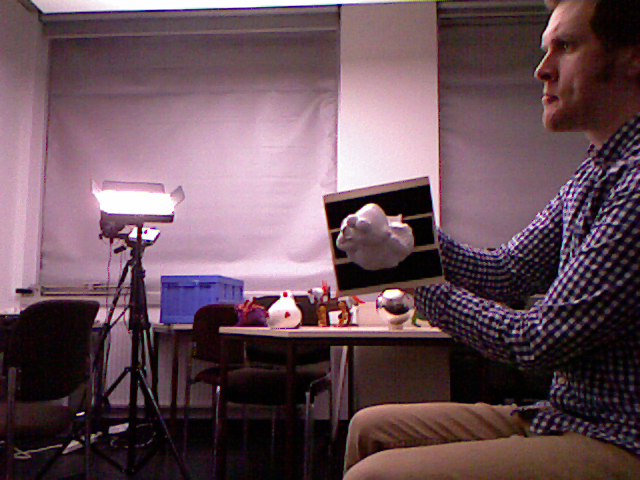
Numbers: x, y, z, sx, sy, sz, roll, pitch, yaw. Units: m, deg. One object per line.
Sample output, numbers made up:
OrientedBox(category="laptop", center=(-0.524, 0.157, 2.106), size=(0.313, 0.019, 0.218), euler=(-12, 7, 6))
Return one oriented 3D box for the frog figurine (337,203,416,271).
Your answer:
OrientedBox(category="frog figurine", center=(0.098, -0.002, 0.901), size=(0.138, 0.123, 0.160), euler=(8, 3, 9))
